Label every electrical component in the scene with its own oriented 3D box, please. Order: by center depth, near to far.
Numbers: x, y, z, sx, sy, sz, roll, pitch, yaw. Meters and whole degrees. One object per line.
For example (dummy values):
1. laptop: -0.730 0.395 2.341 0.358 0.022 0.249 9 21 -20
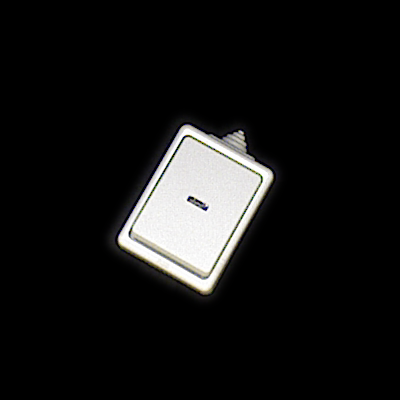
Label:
1. electrical component: 0.000 0.000 0.627 0.062 0.096 0.061 29 -6 4
